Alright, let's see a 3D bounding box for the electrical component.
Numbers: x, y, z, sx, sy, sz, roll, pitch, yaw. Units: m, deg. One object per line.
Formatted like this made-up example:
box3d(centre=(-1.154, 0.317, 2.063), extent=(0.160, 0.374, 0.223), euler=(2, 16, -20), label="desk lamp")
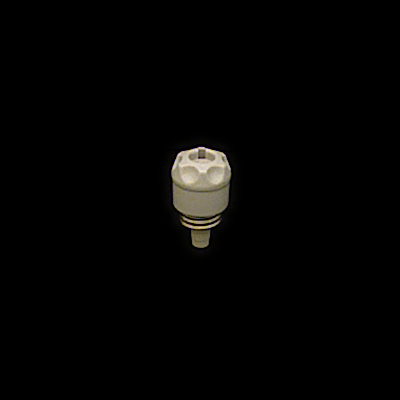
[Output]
box3d(centre=(0.000, 0.000, 0.643), extent=(0.035, 0.062, 0.034), euler=(1, 32, 0), label="electrical component")
